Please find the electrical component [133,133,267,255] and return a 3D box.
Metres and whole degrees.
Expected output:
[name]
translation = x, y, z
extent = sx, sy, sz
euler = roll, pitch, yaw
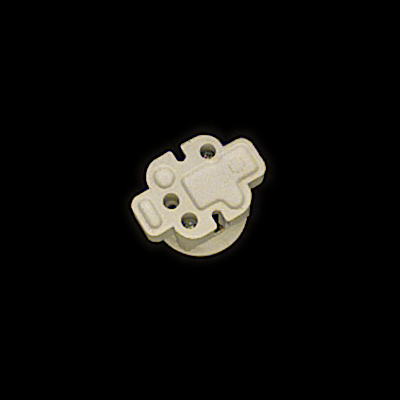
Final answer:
[electrical component]
translation = 0.000, 0.000, 0.636
extent = 0.079, 0.058, 0.056
euler = -31, -15, -10
